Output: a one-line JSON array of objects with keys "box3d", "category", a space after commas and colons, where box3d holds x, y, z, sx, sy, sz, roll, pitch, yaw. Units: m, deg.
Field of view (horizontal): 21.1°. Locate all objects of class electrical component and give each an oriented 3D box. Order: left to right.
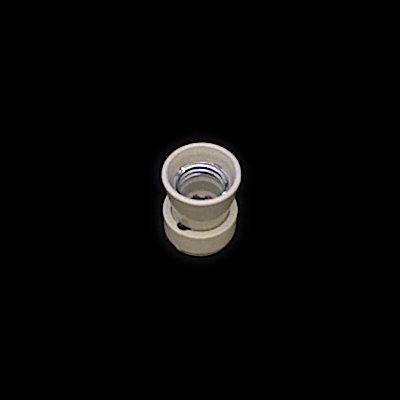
[{"box3d": [0.000, 0.000, 0.630, 0.045, 0.044, 0.055, 0, -37, -1], "category": "electrical component"}]
